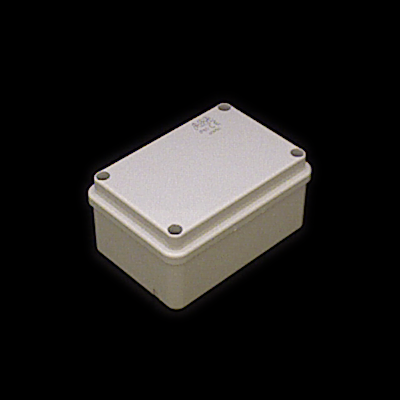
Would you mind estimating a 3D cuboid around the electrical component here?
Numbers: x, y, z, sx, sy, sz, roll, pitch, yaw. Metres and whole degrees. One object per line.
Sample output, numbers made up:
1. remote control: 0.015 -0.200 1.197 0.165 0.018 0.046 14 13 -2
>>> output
1. electrical component: 0.000 0.000 0.632 0.113 0.057 0.077 -32 51 -31
